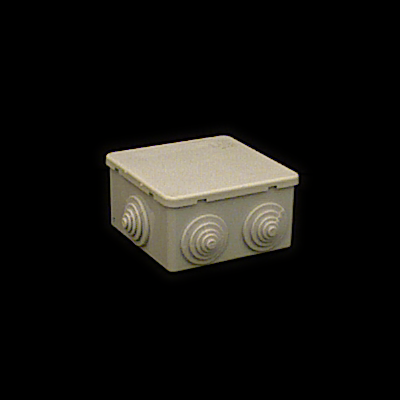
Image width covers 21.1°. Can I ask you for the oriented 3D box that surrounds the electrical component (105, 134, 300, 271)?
[{"bbox_3d":[0.000,0.000,0.650,0.100,0.049,0.098,-11,24,-27],"label":"electrical component"}]
